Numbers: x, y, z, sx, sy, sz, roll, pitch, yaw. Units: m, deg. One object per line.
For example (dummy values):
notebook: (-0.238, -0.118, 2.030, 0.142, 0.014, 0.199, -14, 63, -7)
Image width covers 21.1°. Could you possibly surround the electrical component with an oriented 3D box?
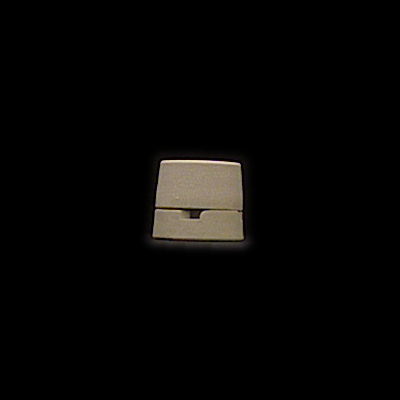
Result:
electrical component: (0.000, 0.000, 0.651, 0.055, 0.047, 0.055, 2, 0, 0)
